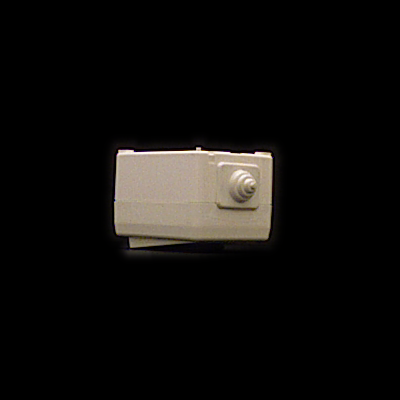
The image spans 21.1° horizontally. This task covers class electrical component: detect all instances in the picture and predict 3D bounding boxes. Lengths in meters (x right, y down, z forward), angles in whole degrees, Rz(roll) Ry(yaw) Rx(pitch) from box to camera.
[{"bbox_3d":[0.000,0.000,0.647,0.062,0.061,0.096,1,1,-41],"label":"electrical component"}]
